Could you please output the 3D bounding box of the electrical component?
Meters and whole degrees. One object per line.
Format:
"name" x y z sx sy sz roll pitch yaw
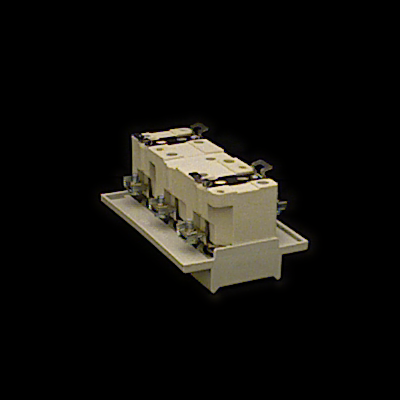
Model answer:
"electrical component" 0.000 0.000 0.643 0.079 0.064 0.119 -11 24 -25
